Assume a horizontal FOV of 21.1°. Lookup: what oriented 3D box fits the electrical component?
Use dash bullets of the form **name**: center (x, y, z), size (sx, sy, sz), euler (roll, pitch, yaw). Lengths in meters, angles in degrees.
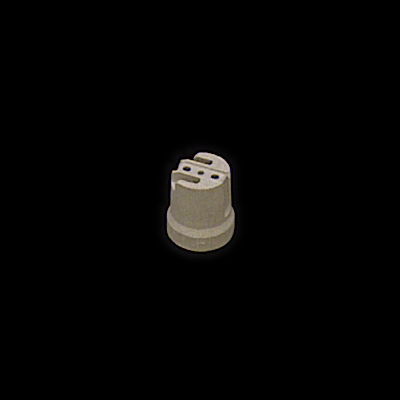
- **electrical component**: center (0.000, 0.000, 0.636), size (0.040, 0.046, 0.040), euler (1, 42, -1)
